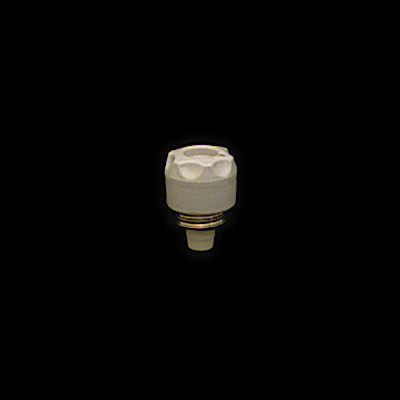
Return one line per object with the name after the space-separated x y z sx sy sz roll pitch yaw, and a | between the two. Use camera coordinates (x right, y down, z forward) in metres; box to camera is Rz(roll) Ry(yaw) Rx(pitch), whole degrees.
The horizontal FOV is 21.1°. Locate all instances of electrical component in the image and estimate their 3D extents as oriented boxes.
0.000 0.000 0.645 0.043 0.063 0.043 0 22 1 | electrical component
